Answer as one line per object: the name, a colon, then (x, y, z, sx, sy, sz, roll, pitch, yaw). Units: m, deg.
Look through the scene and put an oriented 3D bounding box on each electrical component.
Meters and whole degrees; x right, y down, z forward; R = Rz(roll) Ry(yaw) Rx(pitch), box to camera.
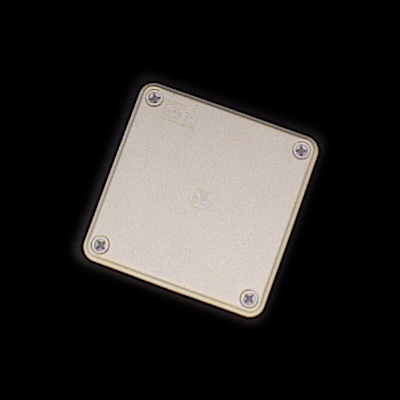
electrical component: (0.000, 0.000, 0.630, 0.109, 0.109, 0.056, 20, -6, 2)
